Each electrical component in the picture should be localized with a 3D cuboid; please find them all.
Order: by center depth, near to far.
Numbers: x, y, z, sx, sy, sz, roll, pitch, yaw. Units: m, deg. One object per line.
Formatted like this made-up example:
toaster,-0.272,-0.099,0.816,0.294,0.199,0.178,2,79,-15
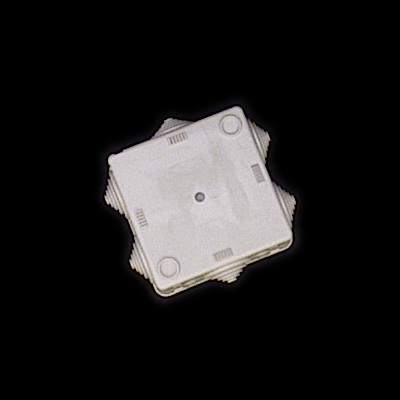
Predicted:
electrical component,0.000,0.000,0.633,0.100,0.100,0.048,-21,-6,-3
